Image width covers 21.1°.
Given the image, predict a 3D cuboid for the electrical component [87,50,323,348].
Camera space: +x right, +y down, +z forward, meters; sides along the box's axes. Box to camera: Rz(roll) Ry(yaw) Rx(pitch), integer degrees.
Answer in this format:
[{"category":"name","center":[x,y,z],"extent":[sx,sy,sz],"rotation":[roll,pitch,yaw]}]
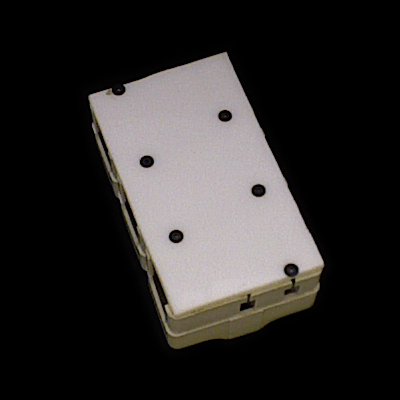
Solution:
[{"category":"electrical component","center":[0.000,0.000,0.630],"extent":[0.089,0.149,0.062],"rotation":[-18,-25,-9]}]
